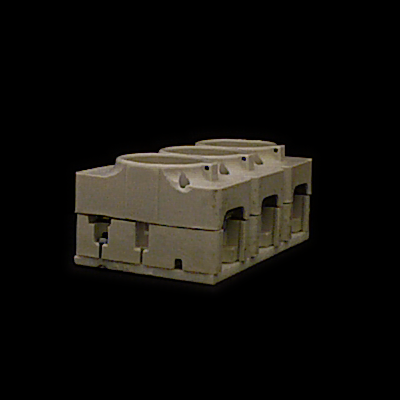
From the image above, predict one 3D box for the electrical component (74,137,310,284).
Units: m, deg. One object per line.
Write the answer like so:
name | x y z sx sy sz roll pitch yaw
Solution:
electrical component | 0.000 0.000 0.651 0.089 0.062 0.149 6 11 24
